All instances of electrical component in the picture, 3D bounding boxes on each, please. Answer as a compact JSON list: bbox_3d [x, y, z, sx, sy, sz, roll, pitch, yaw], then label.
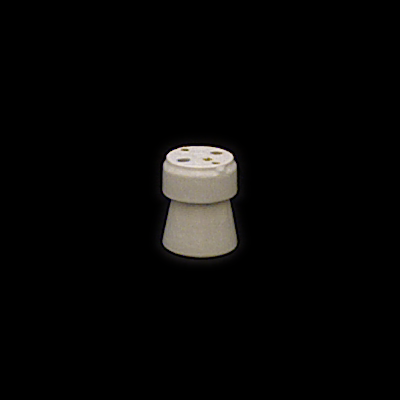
[{"bbox_3d":[0.000,0.000,0.639,0.045,0.056,0.044,1,21,0],"label":"electrical component"}]
